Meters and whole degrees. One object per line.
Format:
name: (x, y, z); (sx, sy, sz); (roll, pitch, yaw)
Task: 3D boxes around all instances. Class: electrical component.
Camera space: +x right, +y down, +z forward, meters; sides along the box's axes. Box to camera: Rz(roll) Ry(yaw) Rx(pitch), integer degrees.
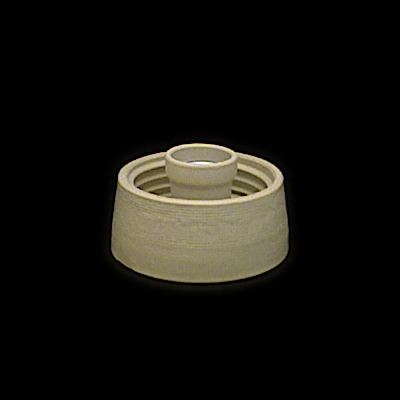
electrical component: (0.000, 0.000, 0.644); (0.108, 0.061, 0.106); (1, 21, 0)
